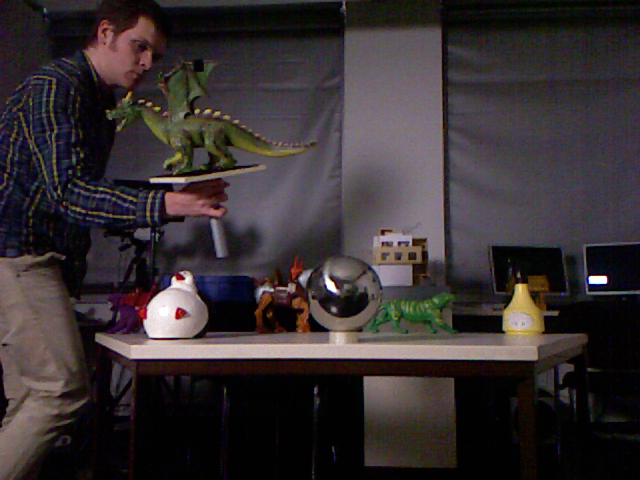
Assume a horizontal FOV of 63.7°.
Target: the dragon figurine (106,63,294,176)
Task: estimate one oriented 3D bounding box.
[{"bbox_3d":[-0.276,-0.283,1.190,0.410,0.239,0.124,-9,18,-2],"label":"dragon figurine"}]
